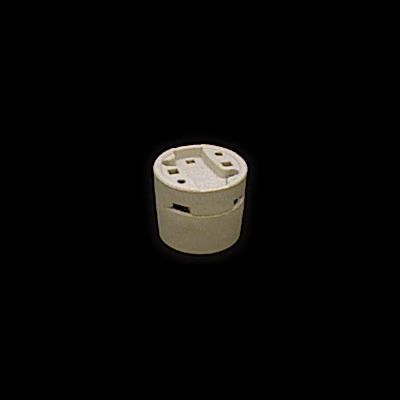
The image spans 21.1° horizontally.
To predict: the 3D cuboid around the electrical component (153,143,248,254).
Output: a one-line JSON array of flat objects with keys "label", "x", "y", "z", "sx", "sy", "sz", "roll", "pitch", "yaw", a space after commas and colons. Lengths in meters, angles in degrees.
[{"label": "electrical component", "x": 0.000, "y": 0.000, "z": 0.638, "sx": 0.055, "sy": 0.047, "sz": 0.055, "roll": 1, "pitch": 31, "yaw": 0}]
